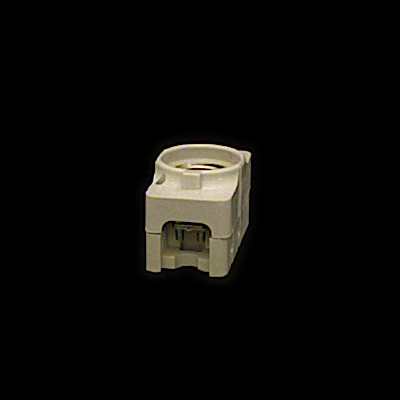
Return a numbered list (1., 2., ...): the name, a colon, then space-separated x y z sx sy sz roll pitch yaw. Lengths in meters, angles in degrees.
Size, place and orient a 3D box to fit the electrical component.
1. electrical component: 0.000 0.000 0.646 0.050 0.056 0.089 5 22 9
